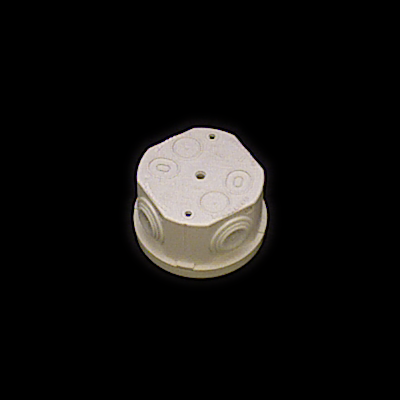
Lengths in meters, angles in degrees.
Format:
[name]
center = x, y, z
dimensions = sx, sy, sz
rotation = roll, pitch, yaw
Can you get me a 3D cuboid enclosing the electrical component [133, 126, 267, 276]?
[electrical component]
center = 0.000, 0.000, 0.633
dimensions = 0.080, 0.080, 0.051
rotation = 0, -38, -1
